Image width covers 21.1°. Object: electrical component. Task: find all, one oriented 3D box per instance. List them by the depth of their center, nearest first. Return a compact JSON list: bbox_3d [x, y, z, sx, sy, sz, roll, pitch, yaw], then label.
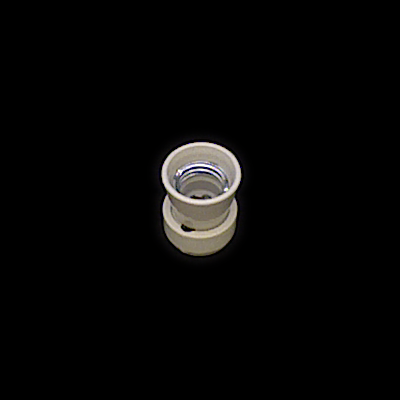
[{"bbox_3d":[0.000,0.000,0.630,0.045,0.044,0.055,0,-37,-1],"label":"electrical component"}]
